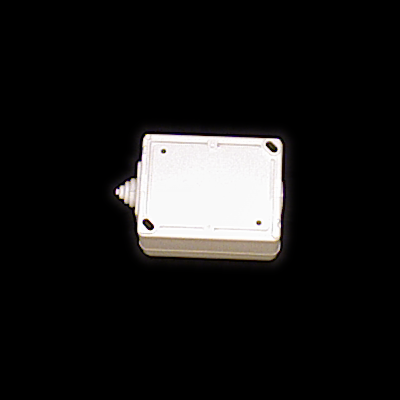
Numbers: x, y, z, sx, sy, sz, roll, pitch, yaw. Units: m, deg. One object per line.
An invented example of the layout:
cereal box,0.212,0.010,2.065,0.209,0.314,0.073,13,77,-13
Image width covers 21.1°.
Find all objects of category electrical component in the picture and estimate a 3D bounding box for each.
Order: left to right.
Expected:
electrical component,0.000,0.000,0.629,0.096,0.062,0.060,2,-17,1
